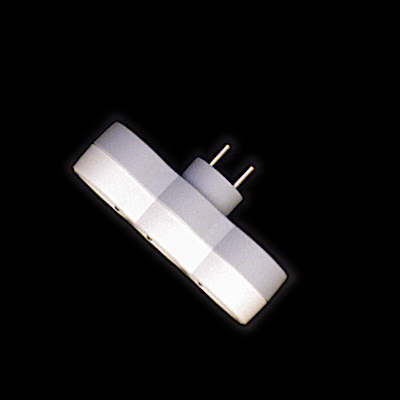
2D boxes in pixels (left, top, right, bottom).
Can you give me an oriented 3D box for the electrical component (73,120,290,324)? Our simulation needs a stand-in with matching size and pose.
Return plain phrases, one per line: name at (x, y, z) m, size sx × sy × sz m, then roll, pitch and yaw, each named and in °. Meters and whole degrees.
electrical component at (0.000, 0.000, 0.632) m, size 0.138 × 0.074 × 0.052 m, roll 42°, pitch -7°, yaw 5°
